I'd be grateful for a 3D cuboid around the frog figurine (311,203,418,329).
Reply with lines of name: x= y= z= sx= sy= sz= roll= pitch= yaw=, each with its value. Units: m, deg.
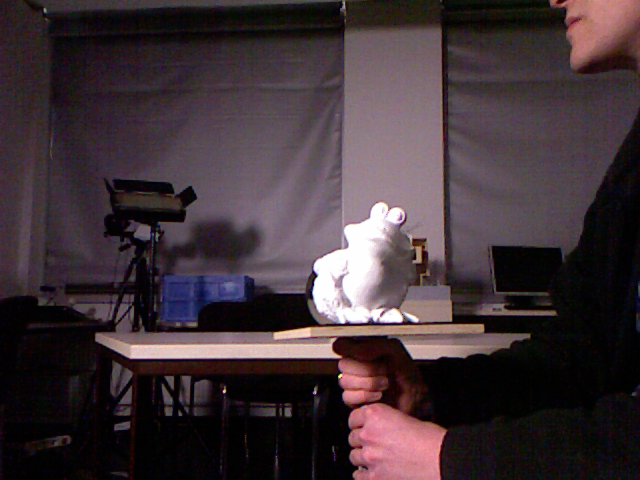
frog figurine: x=0.057 y=0.035 z=0.653 sx=0.137 sy=0.161 sz=0.122 roll=1 pitch=-8 yaw=-7
